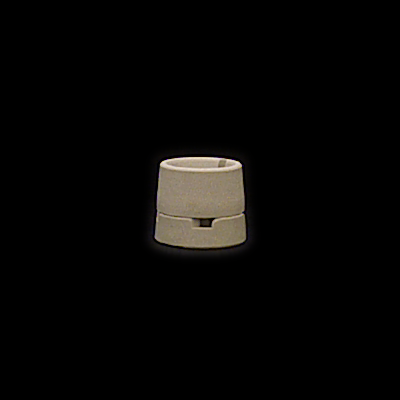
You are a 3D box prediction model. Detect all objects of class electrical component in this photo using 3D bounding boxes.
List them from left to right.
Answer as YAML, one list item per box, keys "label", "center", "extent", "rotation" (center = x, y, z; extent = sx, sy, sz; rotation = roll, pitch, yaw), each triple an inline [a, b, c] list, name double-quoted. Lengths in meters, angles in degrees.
- label: "electrical component"
  center: [0.000, 0.000, 0.644]
  extent: [0.055, 0.047, 0.055]
  rotation: [0, 11, 0]
